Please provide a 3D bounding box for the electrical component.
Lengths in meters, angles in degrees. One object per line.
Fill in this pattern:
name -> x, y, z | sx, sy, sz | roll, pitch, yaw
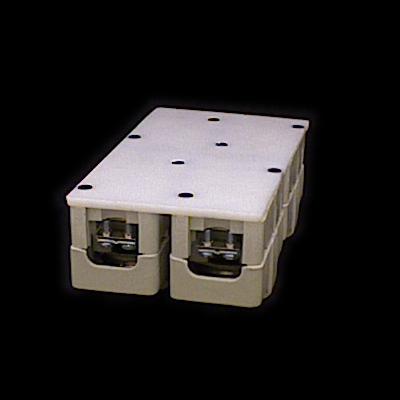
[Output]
electrical component -> 0.000, 0.000, 0.638 | 0.105, 0.061, 0.184 | 5, 21, 12
